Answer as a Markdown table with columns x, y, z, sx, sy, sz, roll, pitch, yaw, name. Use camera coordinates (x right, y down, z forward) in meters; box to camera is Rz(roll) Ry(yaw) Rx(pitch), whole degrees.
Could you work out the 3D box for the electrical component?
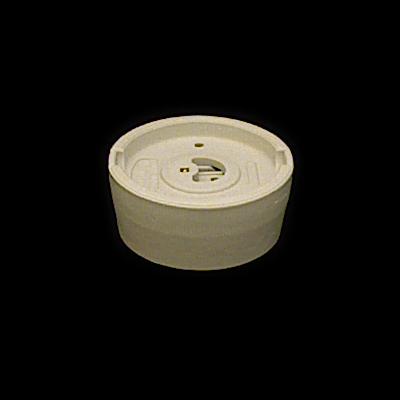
| x | y | z | sx | sy | sz | roll | pitch | yaw | name |
| --- | --- | --- | --- | --- | --- | --- | --- | --- | --- |
| 0.000 | 0.000 | 0.639 | 0.108 | 0.061 | 0.106 | 2 | 32 | 0 | electrical component |
